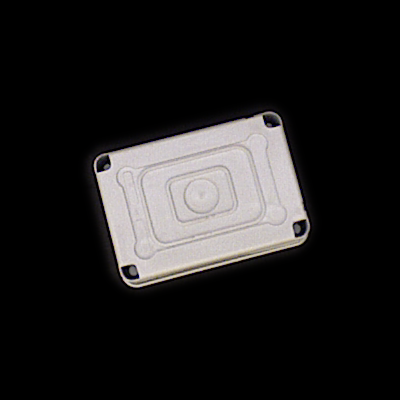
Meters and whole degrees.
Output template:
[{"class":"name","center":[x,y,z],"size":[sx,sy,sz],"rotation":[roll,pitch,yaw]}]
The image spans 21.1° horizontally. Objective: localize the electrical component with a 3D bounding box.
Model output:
[{"class":"electrical component","center":[0.000,0.000,0.629],"size":[0.113,0.078,0.057],"rotation":[-14,-6,-1]}]
